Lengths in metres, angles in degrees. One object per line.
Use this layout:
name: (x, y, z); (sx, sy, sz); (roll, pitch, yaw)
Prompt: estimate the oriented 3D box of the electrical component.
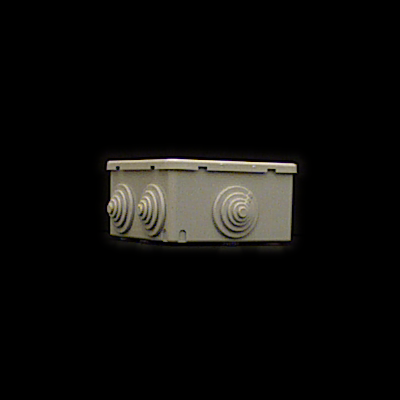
electrical component: (0.000, 0.000, 0.656); (0.101, 0.048, 0.098); (1, 1, -30)
